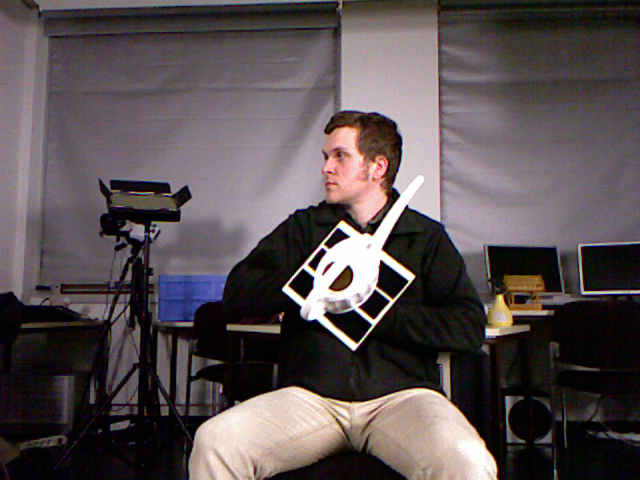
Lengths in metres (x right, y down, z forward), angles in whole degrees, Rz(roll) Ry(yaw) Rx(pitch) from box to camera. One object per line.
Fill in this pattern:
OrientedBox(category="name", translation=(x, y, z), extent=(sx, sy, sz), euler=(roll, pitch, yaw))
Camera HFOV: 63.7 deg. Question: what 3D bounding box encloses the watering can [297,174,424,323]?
OrientedBox(category="watering can", translation=(0.087, 0.034, 1.011), extent=(0.105, 0.351, 0.222), euler=(41, -7, 17))
